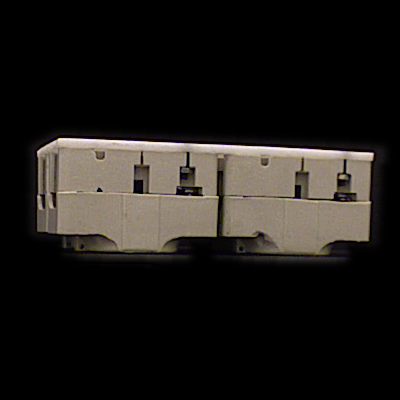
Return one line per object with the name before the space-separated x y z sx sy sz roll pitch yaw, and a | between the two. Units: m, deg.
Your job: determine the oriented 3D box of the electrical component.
electrical component | 0.000 0.000 0.649 0.186 0.060 0.105 2 0 -15
